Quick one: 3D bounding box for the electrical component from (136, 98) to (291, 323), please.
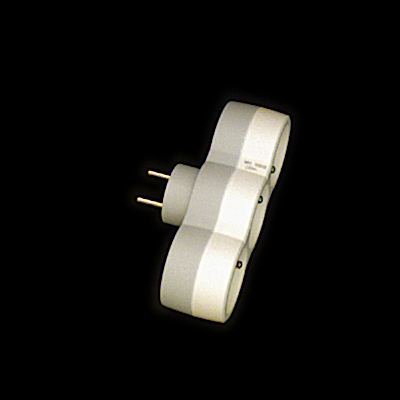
[{"bbox_3d":[0.000,0.000,0.639,0.073,0.138,0.052,16,-26,9],"label":"electrical component"}]
